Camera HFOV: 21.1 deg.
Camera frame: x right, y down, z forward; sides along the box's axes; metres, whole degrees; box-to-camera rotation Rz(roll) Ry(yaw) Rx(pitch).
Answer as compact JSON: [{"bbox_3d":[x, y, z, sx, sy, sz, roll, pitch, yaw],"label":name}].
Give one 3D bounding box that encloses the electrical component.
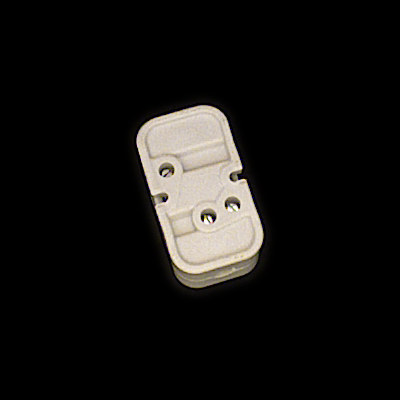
[{"bbox_3d":[0.000,0.000,0.636,0.054,0.095,0.059,-16,-16,-4],"label":"electrical component"}]
